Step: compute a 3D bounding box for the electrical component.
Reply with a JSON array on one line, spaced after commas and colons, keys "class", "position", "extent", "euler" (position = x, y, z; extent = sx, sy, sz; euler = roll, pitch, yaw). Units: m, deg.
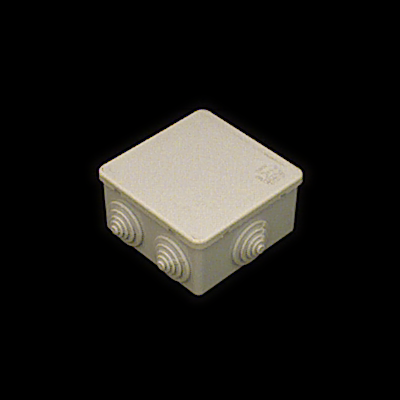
[{"class": "electrical component", "position": [0.000, 0.000, 0.643], "extent": [0.100, 0.049, 0.098], "euler": [-33, 53, -31]}]
